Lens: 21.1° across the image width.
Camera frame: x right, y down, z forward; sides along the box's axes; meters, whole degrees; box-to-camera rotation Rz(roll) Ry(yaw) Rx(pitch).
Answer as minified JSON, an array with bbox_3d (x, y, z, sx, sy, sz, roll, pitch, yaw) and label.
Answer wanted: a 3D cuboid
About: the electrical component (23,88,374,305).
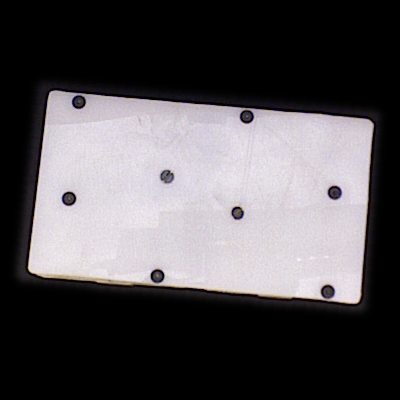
[{"bbox_3d":[0.000,0.000,0.626,0.186,0.106,0.060,5,-7,1],"label":"electrical component"}]
